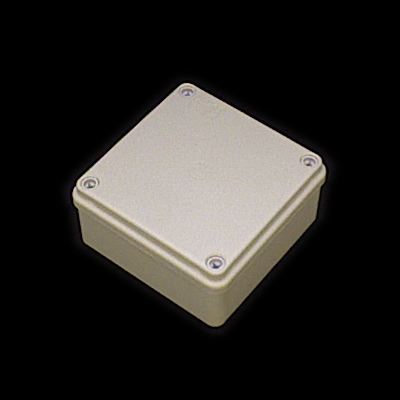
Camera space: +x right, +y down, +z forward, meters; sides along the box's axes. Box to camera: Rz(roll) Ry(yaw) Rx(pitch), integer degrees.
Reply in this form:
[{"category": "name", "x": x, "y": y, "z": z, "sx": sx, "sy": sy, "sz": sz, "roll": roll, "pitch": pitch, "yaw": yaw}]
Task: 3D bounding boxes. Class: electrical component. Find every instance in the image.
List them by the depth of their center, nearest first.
[{"category": "electrical component", "x": 0.000, "y": 0.000, "z": 0.629, "sx": 0.108, "sy": 0.109, "sz": 0.056, "roll": 31, "pitch": -31, "yaw": 21}]
